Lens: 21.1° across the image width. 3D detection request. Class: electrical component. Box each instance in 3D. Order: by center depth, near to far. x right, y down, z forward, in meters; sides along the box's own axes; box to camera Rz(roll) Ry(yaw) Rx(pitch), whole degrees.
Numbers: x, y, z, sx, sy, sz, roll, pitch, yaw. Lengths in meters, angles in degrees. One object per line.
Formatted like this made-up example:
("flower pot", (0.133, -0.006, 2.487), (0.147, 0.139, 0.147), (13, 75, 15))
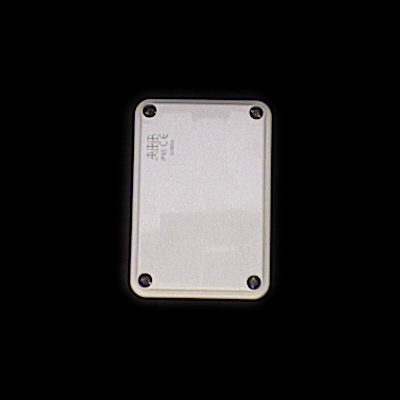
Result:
("electrical component", (0.000, 0.000, 0.627), (0.078, 0.113, 0.057), (1, -7, 1))
